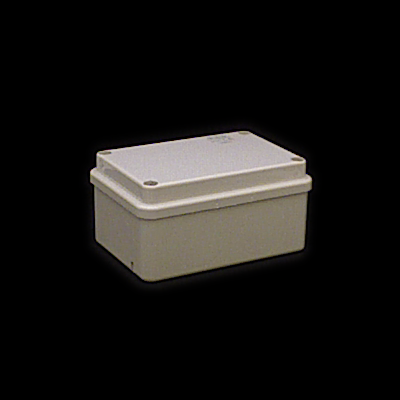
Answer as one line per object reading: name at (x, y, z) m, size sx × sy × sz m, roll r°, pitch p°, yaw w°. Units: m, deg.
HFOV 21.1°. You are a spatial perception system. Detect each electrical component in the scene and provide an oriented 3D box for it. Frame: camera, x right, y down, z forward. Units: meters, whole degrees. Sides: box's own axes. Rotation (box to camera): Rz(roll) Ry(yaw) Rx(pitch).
electrical component at (0.000, 0.000, 0.641) m, size 0.113 × 0.058 × 0.077 m, roll -10°, pitch 24°, yaw -27°
